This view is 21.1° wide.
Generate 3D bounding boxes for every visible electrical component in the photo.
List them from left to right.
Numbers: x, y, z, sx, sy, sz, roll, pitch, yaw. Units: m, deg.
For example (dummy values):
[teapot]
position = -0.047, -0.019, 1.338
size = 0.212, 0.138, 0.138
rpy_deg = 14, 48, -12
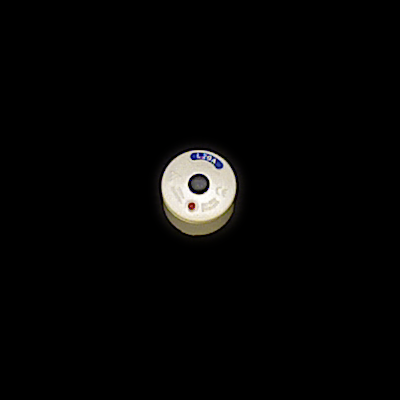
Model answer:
[electrical component]
position = 0.000, 0.000, 0.616
size = 0.040, 0.040, 0.078
rpy_deg = 0, -16, 0
